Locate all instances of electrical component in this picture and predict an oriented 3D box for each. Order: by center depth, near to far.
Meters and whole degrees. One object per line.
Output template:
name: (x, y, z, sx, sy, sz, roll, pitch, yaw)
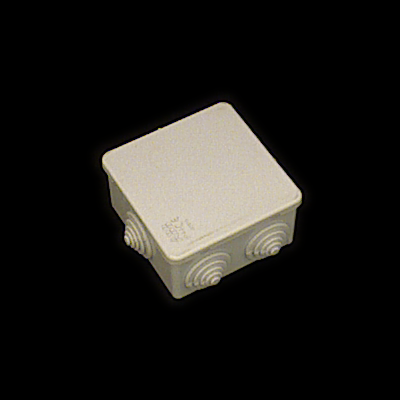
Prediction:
electrical component: (0.000, 0.000, 0.639, 0.100, 0.099, 0.048, -25, -33, -18)
